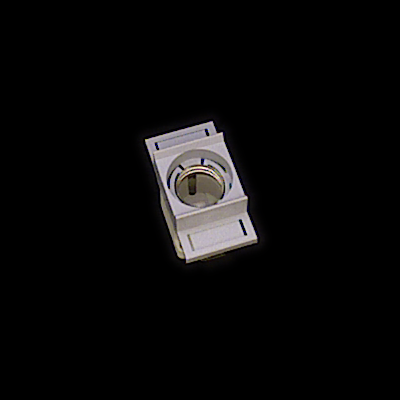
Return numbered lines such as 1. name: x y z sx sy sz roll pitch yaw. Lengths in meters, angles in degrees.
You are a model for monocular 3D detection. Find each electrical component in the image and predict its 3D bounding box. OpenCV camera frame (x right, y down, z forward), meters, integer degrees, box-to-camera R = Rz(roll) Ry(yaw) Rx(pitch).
1. electrical component: 0.000 0.000 0.623 0.042 0.081 0.063 -15 -26 -9
